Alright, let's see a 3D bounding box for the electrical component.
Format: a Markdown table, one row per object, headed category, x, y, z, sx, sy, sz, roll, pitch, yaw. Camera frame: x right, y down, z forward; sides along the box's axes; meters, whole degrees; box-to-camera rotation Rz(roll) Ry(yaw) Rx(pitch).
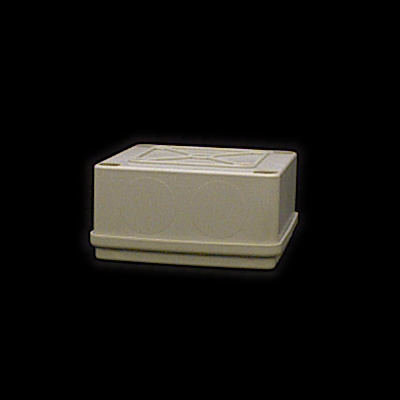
| category | x | y | z | sx | sy | sz | roll | pitch | yaw |
| --- | --- | --- | --- | --- | --- | --- | --- | --- | --- |
| electrical component | 0.000 | 0.000 | 0.643 | 0.108 | 0.056 | 0.108 | 3 | 11 | 10 |
